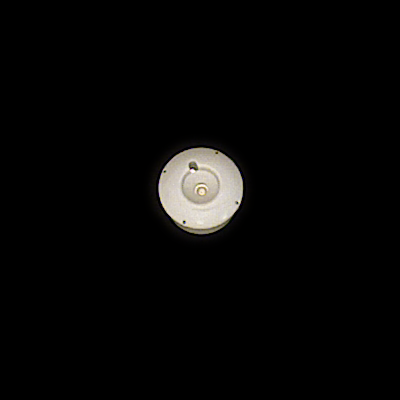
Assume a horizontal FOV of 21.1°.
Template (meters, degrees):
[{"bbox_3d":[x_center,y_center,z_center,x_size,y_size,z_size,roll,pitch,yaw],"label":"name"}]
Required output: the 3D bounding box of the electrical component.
[{"bbox_3d":[0.000,0.000,0.633,0.048,0.048,0.061,0,-16,1],"label":"electrical component"}]
